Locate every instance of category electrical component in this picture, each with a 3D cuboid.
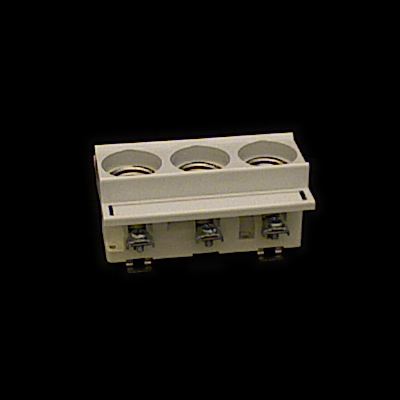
[{"bbox_3d":[0.000,0.000,0.647,0.122,0.064,0.077,-4,31,-8],"label":"electrical component"}]
